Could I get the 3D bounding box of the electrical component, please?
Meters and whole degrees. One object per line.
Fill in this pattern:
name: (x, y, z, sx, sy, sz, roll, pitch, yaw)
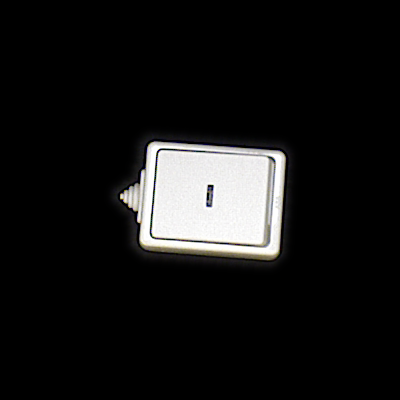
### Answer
electrical component: (0.000, 0.000, 0.627, 0.096, 0.062, 0.061, 4, -7, 1)
